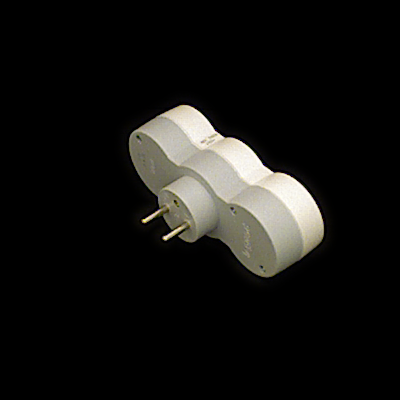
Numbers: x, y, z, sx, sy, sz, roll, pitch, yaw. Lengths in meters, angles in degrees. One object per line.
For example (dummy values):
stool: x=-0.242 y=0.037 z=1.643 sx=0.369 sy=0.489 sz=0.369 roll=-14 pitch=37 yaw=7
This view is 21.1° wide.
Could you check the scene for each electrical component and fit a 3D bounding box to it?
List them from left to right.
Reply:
electrical component: x=0.000 y=0.000 z=0.640 sx=0.074 sy=0.052 sz=0.136 roll=-32 pitch=52 yaw=-28
